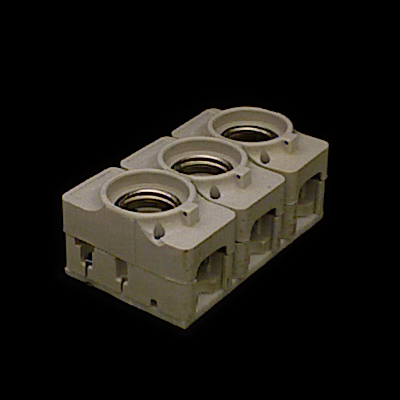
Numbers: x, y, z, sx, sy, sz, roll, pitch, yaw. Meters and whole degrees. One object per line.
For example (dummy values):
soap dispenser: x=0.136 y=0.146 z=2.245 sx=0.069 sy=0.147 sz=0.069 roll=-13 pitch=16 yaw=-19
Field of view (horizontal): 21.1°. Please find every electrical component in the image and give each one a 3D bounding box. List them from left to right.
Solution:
electrical component: x=0.000 y=0.000 z=0.640 sx=0.089 sy=0.063 sz=0.148 roll=21 pitch=37 yaw=29
